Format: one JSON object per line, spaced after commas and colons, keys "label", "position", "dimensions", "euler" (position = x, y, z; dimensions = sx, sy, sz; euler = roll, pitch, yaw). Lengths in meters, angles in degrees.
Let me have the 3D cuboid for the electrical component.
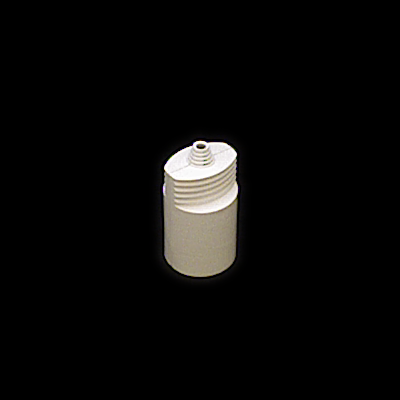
{"label": "electrical component", "position": [0.000, 0.000, 0.624], "dimensions": [0.043, 0.082, 0.042], "euler": [1, 42, 0]}
